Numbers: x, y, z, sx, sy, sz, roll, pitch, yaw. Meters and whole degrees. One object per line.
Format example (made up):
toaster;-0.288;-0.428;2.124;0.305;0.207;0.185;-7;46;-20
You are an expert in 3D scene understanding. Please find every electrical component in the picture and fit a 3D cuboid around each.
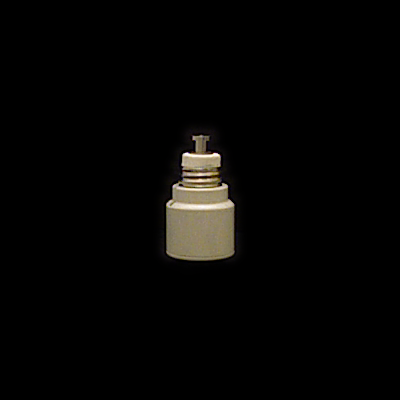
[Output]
electrical component;0.000;0.000;0.643;0.040;0.079;0.040;1;12;0
